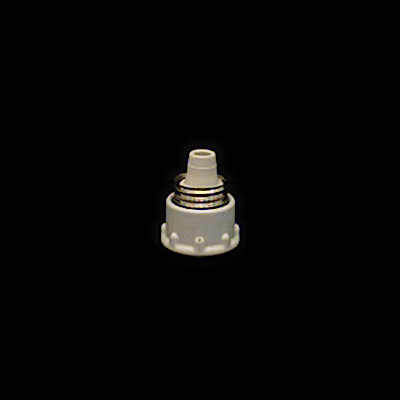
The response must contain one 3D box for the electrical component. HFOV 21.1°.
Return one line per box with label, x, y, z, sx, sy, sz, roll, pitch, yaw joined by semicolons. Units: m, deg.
electrical component;0.000;0.000;0.647;0.048;0.063;0.047;2;21;0
